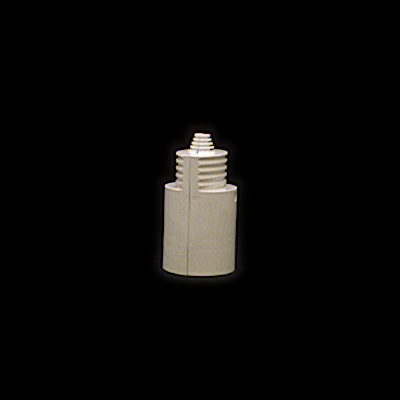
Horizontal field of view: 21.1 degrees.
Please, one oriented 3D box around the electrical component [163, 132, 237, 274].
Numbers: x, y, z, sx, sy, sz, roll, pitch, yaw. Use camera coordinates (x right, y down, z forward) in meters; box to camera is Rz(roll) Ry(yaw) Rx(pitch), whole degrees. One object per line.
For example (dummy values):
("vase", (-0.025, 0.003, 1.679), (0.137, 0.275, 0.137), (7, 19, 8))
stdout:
("electrical component", (0.000, 0.000, 0.641), (0.043, 0.081, 0.043), (1, 11, 0))
